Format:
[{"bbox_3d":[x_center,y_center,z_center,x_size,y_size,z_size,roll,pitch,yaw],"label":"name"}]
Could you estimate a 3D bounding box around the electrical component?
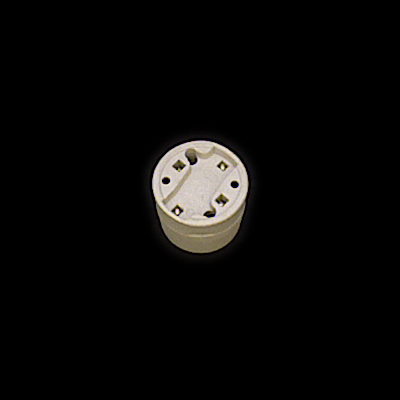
[{"bbox_3d":[0.000,0.000,0.633,0.055,0.056,0.047,0,-27,0],"label":"electrical component"}]
